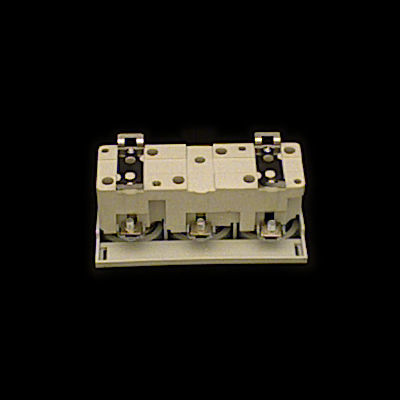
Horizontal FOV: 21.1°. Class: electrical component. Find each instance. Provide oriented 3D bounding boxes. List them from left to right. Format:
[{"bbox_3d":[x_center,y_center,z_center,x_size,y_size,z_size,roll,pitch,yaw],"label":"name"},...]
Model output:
[{"bbox_3d":[0.000,0.000,0.636,0.121,0.063,0.078,-1,43,-2],"label":"electrical component"}]
